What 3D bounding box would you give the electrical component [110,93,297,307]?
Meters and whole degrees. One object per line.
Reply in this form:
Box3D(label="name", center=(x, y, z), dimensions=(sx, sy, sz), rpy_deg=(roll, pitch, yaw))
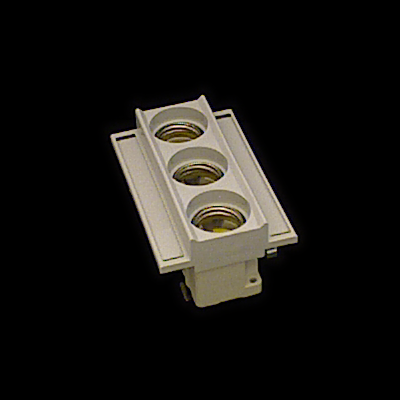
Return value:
Box3D(label="electrical component", center=(0.000, 0.000, 0.641), dimensions=(0.079, 0.063, 0.120), rpy_deg=(-12, 44, -11))
